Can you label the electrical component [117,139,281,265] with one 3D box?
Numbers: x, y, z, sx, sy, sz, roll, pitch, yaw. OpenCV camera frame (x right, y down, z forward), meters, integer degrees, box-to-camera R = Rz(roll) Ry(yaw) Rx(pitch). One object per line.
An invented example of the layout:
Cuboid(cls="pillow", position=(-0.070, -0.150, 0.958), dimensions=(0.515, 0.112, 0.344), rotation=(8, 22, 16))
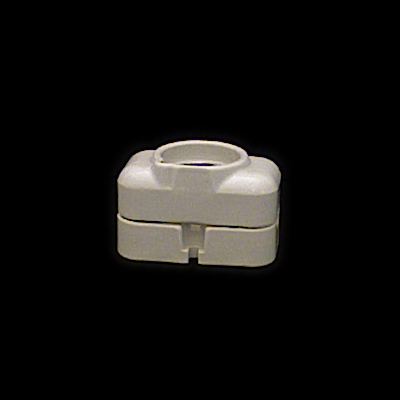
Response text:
Cuboid(cls="electrical component", position=(0.000, 0.000, 0.644), dimensions=(0.095, 0.060, 0.053), rotation=(3, 22, 6))
